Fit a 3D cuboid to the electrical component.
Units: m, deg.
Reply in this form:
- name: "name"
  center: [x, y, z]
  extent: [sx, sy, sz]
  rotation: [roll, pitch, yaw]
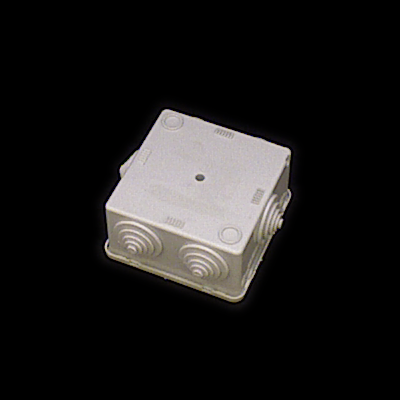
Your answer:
- name: "electrical component"
  center: [0.000, 0.000, 0.632]
  extent: [0.099, 0.099, 0.049]
  rotation: [19, -35, 13]
